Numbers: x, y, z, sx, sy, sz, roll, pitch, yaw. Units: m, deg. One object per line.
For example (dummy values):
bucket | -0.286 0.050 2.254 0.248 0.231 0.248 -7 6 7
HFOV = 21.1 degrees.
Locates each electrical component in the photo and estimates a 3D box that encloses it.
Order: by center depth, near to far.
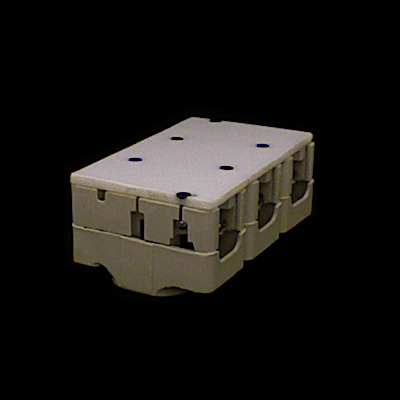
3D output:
electrical component | 0.000 0.000 0.648 0.089 0.063 0.148 12 22 25
